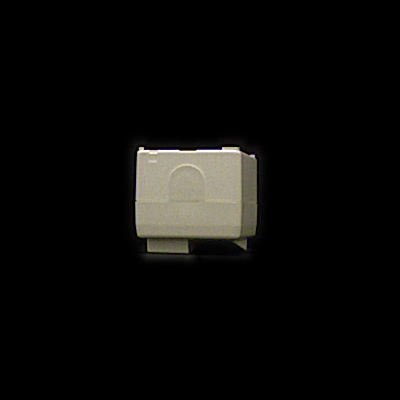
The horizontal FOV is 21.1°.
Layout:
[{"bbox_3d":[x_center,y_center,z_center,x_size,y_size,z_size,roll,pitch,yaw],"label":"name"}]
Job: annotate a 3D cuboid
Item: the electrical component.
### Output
[{"bbox_3d":[0.000,0.000,0.658,0.061,0.061,0.096,1,0,10],"label":"electrical component"}]
